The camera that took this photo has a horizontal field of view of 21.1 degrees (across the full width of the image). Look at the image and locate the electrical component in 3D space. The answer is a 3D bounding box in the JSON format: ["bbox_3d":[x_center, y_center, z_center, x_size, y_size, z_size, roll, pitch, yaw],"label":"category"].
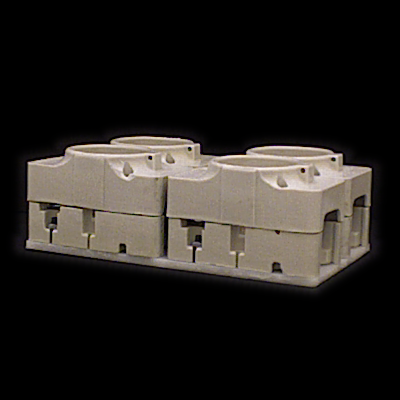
[{"bbox_3d":[0.000,0.000,0.645,0.186,0.061,0.105,6,11,24],"label":"electrical component"}]
